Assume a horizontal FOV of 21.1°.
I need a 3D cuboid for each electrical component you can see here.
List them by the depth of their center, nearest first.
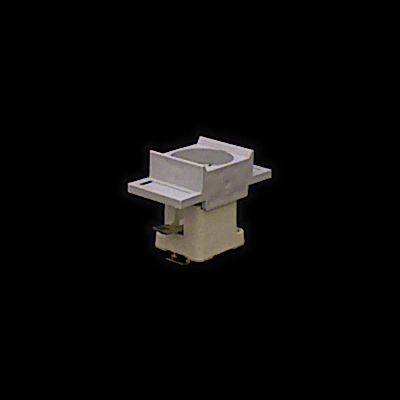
[{"bbox_3d":[0.000,0.000,0.635,0.042,0.064,0.080,20,27,38],"label":"electrical component"}]
